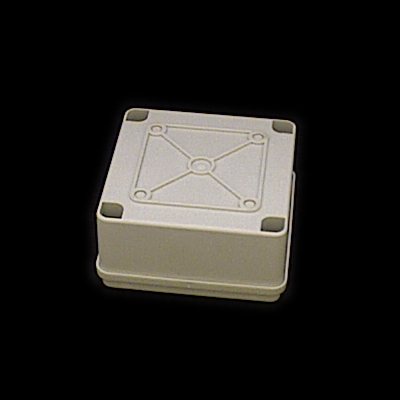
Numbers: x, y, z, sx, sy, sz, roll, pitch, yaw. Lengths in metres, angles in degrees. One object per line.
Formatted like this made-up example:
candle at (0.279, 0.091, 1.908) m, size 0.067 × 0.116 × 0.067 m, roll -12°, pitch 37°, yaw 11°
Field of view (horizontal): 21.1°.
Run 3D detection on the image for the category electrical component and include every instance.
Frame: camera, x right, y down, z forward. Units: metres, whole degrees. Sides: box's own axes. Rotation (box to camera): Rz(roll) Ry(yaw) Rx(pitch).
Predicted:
electrical component at (0.000, 0.000, 0.634) m, size 0.109 × 0.057 × 0.107 m, roll 5°, pitch 42°, yaw 4°
